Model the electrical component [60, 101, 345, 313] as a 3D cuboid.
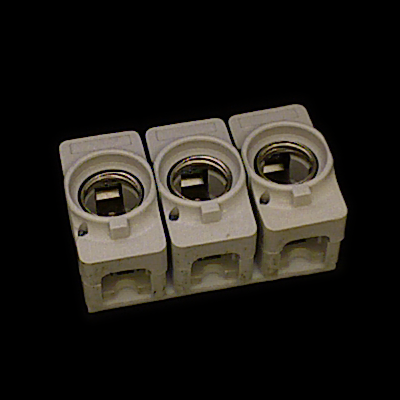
[{"bbox_3d":[0.000,0.000,0.633,0.150,0.088,0.062,-10,-36,-8],"label":"electrical component"}]
